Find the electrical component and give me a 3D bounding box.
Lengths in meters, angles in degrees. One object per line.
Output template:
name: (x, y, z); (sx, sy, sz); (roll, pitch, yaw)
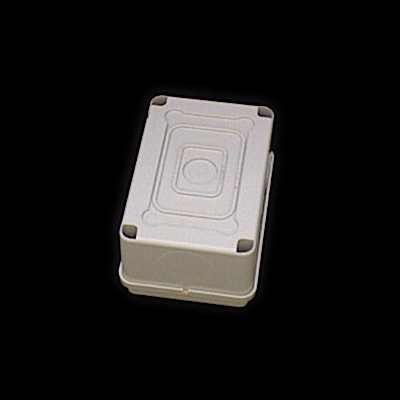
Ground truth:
electrical component: (0.000, 0.000, 0.629); (0.078, 0.112, 0.057); (7, -37, 4)
